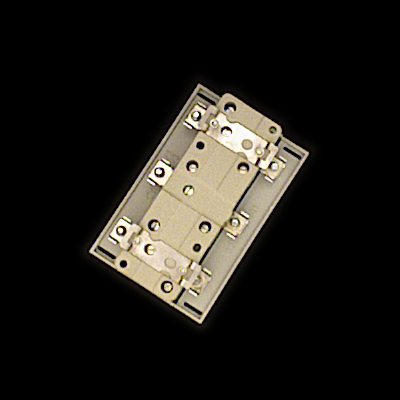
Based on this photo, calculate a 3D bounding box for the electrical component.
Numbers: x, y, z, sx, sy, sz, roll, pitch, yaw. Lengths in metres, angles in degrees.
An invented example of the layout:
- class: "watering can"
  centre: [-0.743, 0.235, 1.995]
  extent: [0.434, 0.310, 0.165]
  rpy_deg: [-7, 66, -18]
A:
- class: "electrical component"
  centre: [0.000, 0.000, 0.634]
  extent: [0.079, 0.122, 0.063]
  rpy_deg: [32, -5, 3]
